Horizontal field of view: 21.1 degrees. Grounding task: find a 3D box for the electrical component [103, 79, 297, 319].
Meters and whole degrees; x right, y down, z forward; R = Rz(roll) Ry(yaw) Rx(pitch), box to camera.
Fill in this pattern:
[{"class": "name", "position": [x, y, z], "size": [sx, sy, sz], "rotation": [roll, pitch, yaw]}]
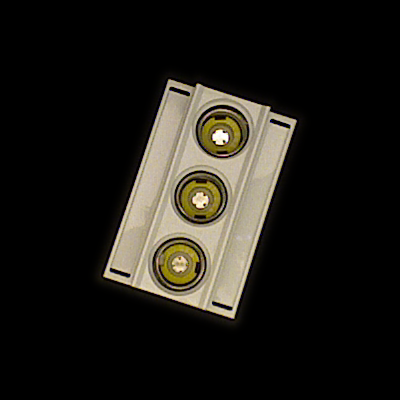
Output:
[{"class": "electrical component", "position": [0.000, 0.000, 0.637], "size": [0.079, 0.121, 0.063], "rotation": [18, -5, 1]}]
